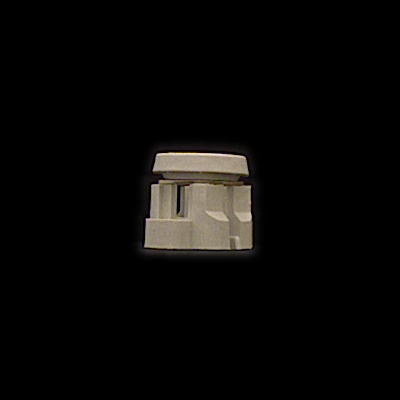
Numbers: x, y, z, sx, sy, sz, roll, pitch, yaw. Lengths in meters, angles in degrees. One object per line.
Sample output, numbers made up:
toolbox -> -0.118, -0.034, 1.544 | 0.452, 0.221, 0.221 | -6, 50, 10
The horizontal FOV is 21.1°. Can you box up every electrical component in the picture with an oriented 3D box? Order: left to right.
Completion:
electrical component -> 0.000, 0.000, 0.652 | 0.057, 0.057, 0.079 | 2, 1, 40
